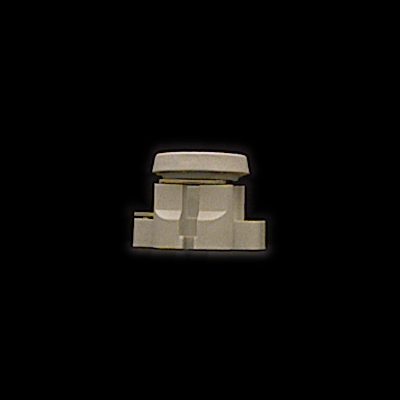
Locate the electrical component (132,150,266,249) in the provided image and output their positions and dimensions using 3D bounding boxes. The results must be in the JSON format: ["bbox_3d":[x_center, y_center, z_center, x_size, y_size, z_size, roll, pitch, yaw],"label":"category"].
[{"bbox_3d":[0.000,0.000,0.649,0.078,0.057,0.058,1,1,14],"label":"electrical component"}]
